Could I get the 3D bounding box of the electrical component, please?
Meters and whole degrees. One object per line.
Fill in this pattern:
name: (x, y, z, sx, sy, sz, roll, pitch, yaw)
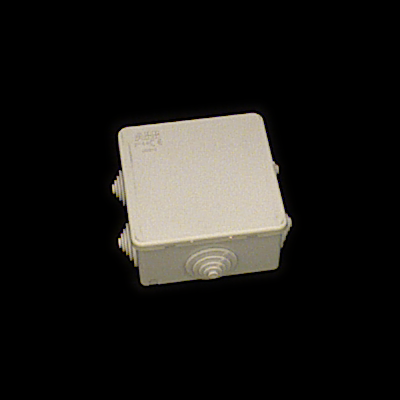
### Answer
electrical component: (0.000, 0.000, 0.640, 0.100, 0.099, 0.048, -6, -36, -5)
